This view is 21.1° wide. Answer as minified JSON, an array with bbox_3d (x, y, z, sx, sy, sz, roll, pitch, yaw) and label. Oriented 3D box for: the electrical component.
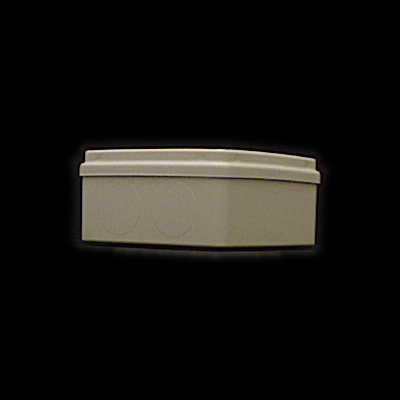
[{"bbox_3d":[0.000,0.000,0.650,0.108,0.056,0.109,2,0,36],"label":"electrical component"}]
